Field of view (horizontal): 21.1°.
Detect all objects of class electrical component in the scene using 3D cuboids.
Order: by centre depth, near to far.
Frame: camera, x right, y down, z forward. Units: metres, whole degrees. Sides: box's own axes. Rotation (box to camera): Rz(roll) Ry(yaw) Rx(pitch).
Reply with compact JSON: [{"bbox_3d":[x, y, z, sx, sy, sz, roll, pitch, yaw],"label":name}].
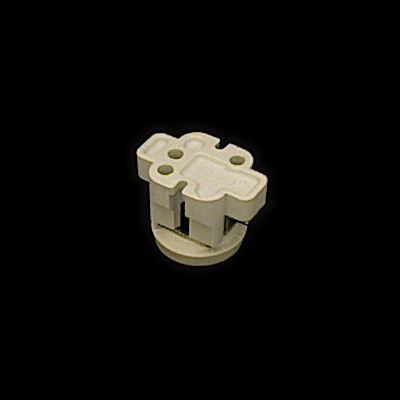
[{"bbox_3d":[0.000,0.000,0.639,0.078,0.057,0.058,23,46,21],"label":"electrical component"}]
